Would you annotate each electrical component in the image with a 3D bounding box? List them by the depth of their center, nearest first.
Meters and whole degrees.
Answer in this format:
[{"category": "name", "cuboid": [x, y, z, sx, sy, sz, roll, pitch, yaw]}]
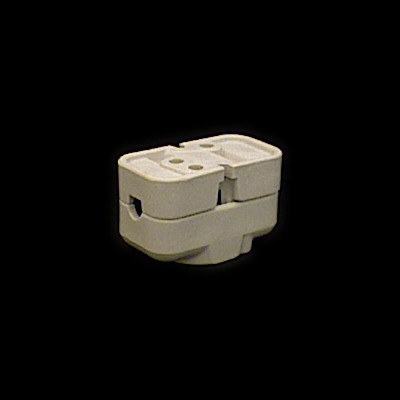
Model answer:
[{"category": "electrical component", "cuboid": [0.000, 0.000, 0.645, 0.095, 0.060, 0.053, -14, 26, -35]}]
